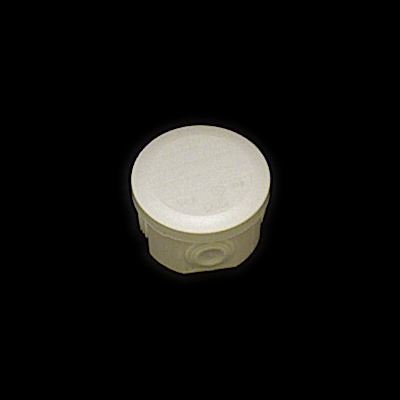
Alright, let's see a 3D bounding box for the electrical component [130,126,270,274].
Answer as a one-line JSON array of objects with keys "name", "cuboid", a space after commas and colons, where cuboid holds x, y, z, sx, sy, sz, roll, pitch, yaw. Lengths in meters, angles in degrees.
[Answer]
[{"name": "electrical component", "cuboid": [0.000, 0.000, 0.630, 0.080, 0.080, 0.051, 0, -38, 0]}]
